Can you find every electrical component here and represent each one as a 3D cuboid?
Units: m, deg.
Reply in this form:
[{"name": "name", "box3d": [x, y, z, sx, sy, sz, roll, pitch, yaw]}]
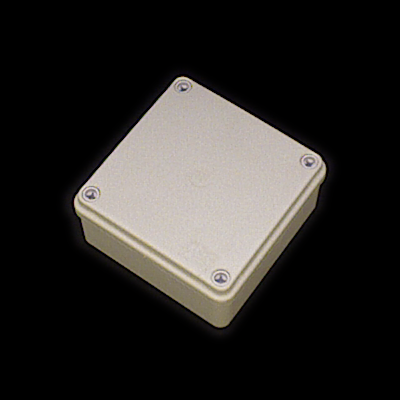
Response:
[{"name": "electrical component", "box3d": [0.000, 0.000, 0.630, 0.108, 0.109, 0.056, 32, -24, 15]}]
